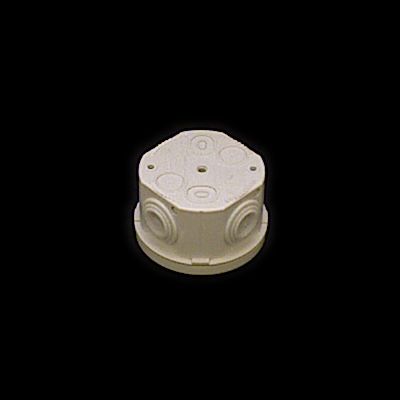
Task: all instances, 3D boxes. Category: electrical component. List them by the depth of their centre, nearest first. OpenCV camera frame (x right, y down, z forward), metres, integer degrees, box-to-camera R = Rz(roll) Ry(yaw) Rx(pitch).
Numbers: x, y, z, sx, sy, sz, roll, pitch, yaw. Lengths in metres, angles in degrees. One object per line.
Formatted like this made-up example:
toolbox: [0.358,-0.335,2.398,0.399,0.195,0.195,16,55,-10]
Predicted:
electrical component: [0.000,0.000,0.634,0.080,0.051,0.080,1,42,-1]
